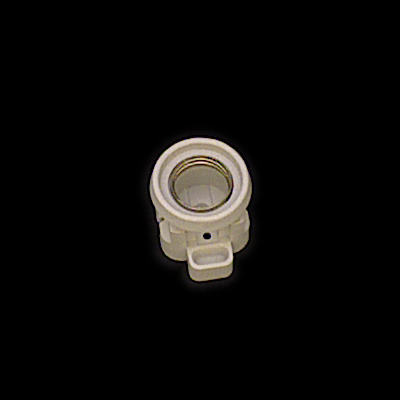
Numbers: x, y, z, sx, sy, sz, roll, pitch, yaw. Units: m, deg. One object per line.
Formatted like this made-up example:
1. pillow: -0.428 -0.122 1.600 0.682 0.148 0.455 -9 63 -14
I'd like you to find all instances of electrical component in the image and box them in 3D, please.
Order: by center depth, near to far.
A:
1. electrical component: 0.000 0.000 0.629 0.058 0.078 0.057 -9 -27 -4
